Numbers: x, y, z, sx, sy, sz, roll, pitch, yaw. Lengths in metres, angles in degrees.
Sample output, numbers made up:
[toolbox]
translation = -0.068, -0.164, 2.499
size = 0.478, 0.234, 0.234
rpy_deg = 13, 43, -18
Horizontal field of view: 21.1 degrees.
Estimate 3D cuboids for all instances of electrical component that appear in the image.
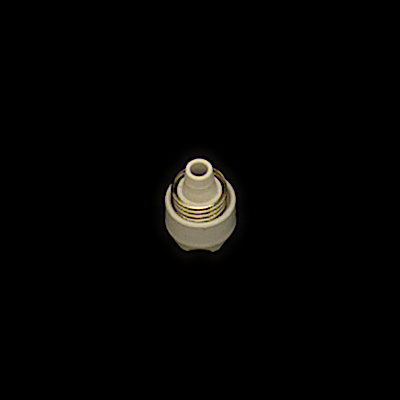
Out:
[electrical component]
translation = 0.000, 0.000, 0.635
size = 0.043, 0.043, 0.062
rpy_deg = 0, -36, 1
